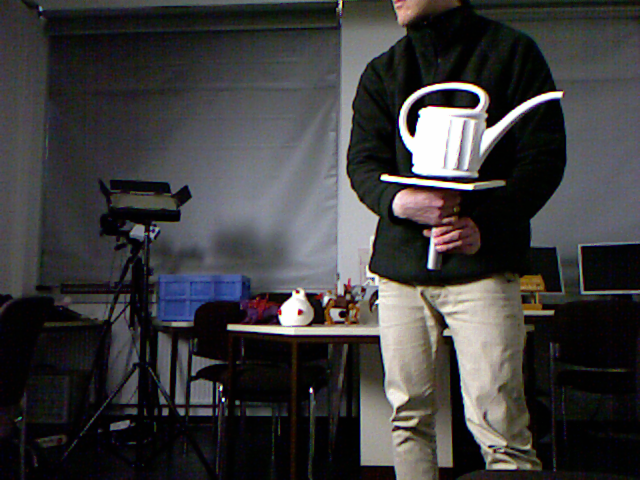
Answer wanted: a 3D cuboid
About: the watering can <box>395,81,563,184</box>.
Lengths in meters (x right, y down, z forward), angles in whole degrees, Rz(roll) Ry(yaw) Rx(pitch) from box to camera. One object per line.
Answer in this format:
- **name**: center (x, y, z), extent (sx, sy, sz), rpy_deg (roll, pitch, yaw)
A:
- **watering can**: center (0.316, -0.221, 1.094), extent (0.350, 0.222, 0.105), rpy_deg (11, 19, 34)
